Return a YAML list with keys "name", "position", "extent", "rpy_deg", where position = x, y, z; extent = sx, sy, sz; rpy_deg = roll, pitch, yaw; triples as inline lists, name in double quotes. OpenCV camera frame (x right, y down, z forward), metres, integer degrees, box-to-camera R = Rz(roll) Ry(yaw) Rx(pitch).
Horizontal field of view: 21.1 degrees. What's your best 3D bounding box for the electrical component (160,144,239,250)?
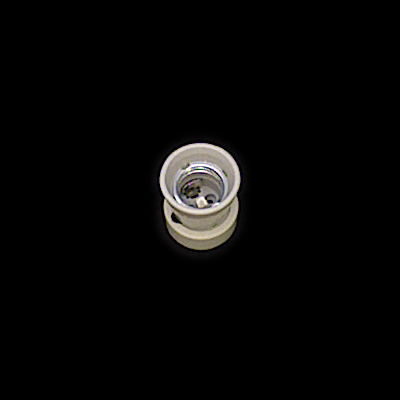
- name: "electrical component"
  position: [0.000, 0.000, 0.628]
  extent: [0.045, 0.045, 0.055]
  rpy_deg: [0, -28, 0]
